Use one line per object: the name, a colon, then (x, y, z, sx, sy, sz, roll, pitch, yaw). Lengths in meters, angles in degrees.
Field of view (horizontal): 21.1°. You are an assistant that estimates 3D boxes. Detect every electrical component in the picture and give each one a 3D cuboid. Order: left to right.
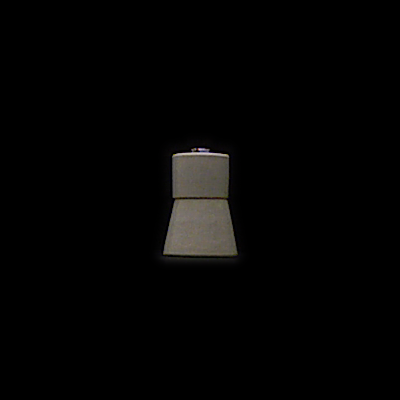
electrical component: (0.000, 0.000, 0.651, 0.044, 0.065, 0.044, 0, 1, 0)
